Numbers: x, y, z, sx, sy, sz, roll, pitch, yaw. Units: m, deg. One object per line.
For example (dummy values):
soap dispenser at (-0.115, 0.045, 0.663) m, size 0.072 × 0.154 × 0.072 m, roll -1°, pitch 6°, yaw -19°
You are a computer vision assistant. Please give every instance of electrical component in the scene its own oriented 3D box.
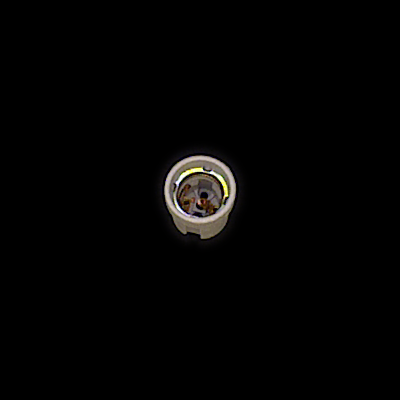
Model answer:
electrical component at (0.000, 0.000, 0.628) m, size 0.040 × 0.040 × 0.046 m, roll 0°, pitch -17°, yaw 0°
